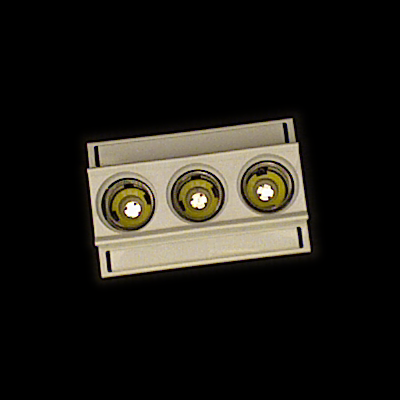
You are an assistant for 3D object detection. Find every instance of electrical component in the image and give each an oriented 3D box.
[{"bbox_3d":[0.000,0.000,0.637,0.121,0.079,0.063,-7,-7,0],"label":"electrical component"}]
